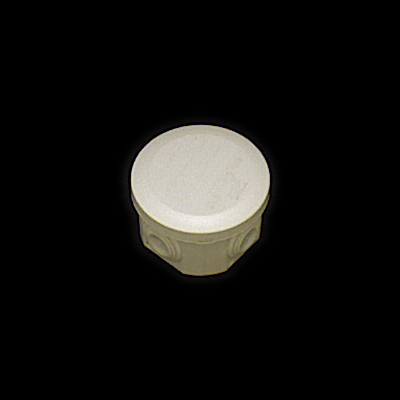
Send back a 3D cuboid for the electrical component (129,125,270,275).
[{"bbox_3d":[0.000,0.000,0.630,0.080,0.080,0.051,0,-38,0],"label":"electrical component"}]
